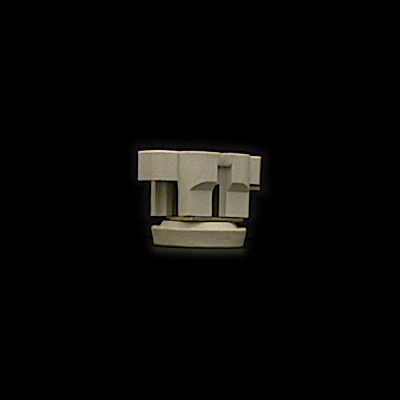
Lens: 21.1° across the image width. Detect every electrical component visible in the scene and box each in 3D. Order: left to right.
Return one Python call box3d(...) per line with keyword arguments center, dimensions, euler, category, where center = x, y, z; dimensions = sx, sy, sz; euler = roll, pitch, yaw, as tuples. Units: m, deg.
box3d(center=(0.000, 0.000, 0.658), dimensions=(0.079, 0.057, 0.057), euler=(2, 0, -35), category="electrical component")
